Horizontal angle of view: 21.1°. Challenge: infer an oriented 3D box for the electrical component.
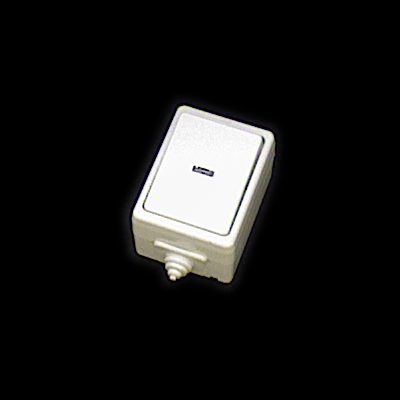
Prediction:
[{"bbox_3d":[0.000,0.000,0.625,0.061,0.097,0.060,18,-26,9],"label":"electrical component"}]
